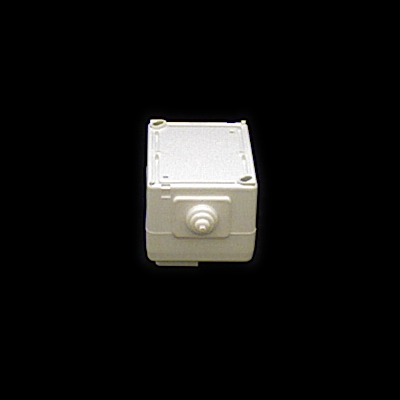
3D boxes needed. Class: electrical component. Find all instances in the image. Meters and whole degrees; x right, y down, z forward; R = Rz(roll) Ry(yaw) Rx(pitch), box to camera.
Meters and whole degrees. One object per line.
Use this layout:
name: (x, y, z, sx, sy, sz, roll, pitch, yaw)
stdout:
electrical component: (-0.001, 0.000, 0.628, 0.062, 0.061, 0.095, 0, 31, -3)
